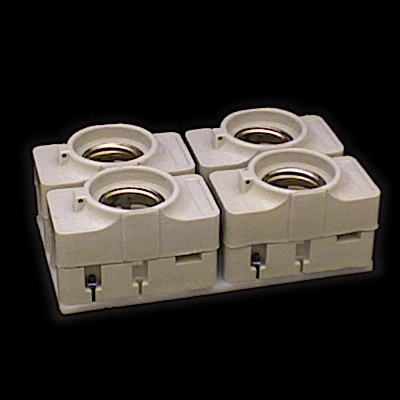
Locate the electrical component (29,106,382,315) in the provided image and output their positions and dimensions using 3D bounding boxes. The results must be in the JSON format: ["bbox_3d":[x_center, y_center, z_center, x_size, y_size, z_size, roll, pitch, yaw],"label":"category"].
[{"bbox_3d":[0.000,0.000,0.633,0.186,0.061,0.104,-7,32,-13],"label":"electrical component"}]
